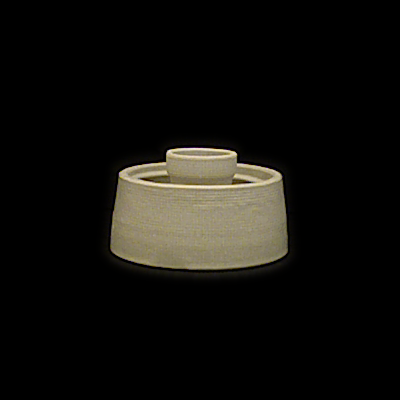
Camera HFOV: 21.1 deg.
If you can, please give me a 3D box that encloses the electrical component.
[{"bbox_3d":[0.000,0.000,0.649,0.108,0.061,0.107,1,11,0],"label":"electrical component"}]
